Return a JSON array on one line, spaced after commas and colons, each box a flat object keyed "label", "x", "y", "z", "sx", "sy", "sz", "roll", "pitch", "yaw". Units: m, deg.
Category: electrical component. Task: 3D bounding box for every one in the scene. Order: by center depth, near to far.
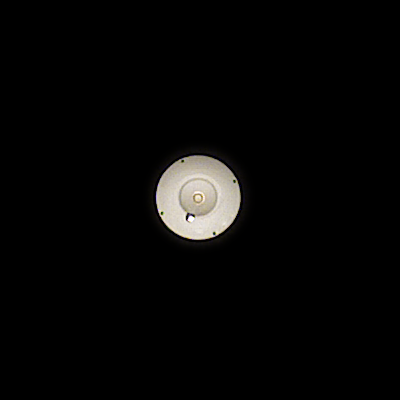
[{"label": "electrical component", "x": 0.000, "y": 0.000, "z": 0.634, "sx": 0.048, "sy": 0.048, "sz": 0.062, "roll": 0, "pitch": -6, "yaw": 1}]
